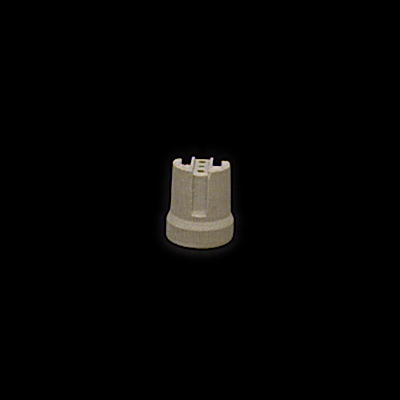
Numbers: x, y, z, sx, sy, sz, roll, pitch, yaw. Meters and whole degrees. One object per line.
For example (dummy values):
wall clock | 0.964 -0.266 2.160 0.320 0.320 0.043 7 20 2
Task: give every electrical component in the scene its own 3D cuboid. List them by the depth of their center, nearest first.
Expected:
electrical component | 0.000 0.000 0.643 0.040 0.046 0.040 1 22 0
